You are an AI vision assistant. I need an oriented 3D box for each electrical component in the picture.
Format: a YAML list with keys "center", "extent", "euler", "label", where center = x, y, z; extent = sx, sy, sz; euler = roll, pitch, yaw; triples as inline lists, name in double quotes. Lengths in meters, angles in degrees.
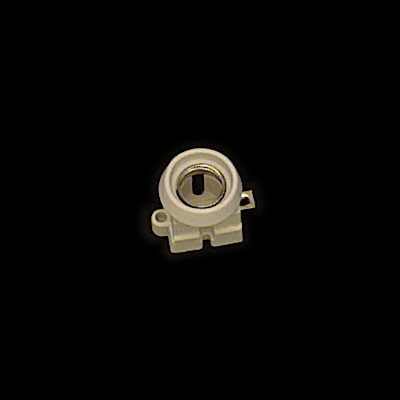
- center: [0.000, 0.000, 0.638]
  extent: [0.066, 0.048, 0.055]
  euler: [-10, -24, -5]
  label: "electrical component"
